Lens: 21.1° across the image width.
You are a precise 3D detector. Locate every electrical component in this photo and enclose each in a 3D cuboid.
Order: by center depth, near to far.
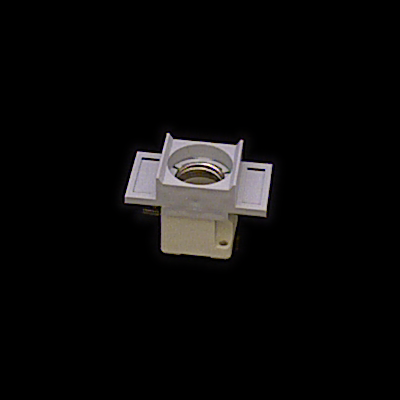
[{"bbox_3d":[0.000,0.000,0.629,0.081,0.064,0.042,6,43,5],"label":"electrical component"}]
